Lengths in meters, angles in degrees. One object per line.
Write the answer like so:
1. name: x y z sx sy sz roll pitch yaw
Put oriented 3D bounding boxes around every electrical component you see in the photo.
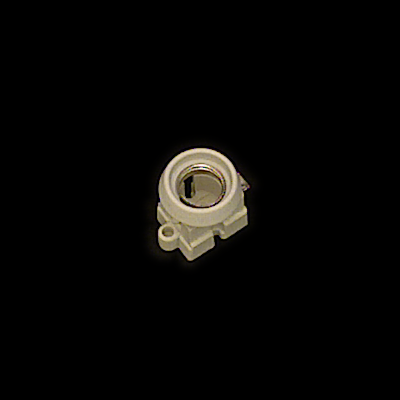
1. electrical component: 0.000 0.000 0.638 0.067 0.048 0.055 -33 -20 -15
